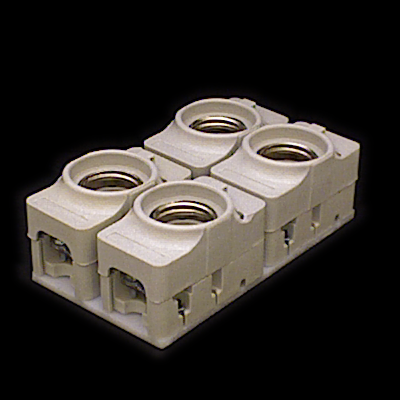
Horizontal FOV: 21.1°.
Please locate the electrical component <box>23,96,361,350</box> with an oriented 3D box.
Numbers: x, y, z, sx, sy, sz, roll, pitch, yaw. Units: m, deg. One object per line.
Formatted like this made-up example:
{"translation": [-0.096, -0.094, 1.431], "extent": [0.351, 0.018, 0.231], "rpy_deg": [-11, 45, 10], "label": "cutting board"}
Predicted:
{"translation": [0.000, 0.000, 0.634], "extent": [0.104, 0.061, 0.185], "rpy_deg": [25, 38, 34], "label": "electrical component"}
